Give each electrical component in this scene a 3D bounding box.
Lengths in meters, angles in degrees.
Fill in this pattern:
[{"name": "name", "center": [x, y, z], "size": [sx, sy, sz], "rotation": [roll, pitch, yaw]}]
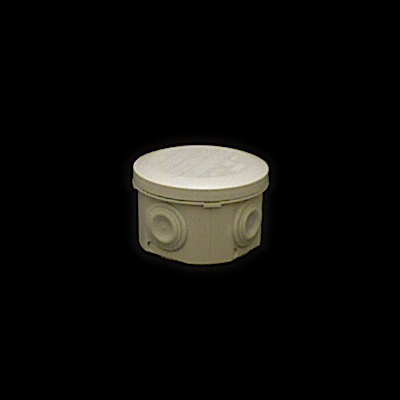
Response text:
[{"name": "electrical component", "center": [0.000, 0.000, 0.638], "size": [0.080, 0.051, 0.079], "rotation": [1, 21, 0]}]
